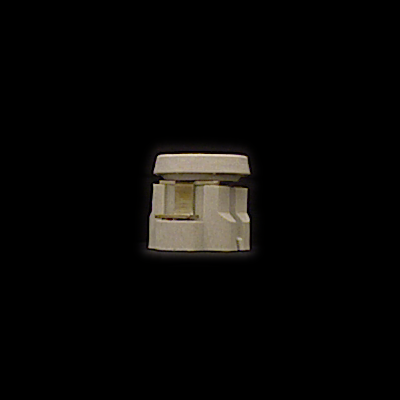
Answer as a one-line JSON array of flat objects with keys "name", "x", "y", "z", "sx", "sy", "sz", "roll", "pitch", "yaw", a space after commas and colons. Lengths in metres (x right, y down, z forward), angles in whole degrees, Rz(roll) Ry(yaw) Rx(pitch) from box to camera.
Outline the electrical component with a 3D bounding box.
[{"name": "electrical component", "x": 0.000, "y": 0.000, "z": 0.648, "sx": 0.057, "sy": 0.057, "sz": 0.079, "roll": 2, "pitch": 1, "yaw": 25}]
